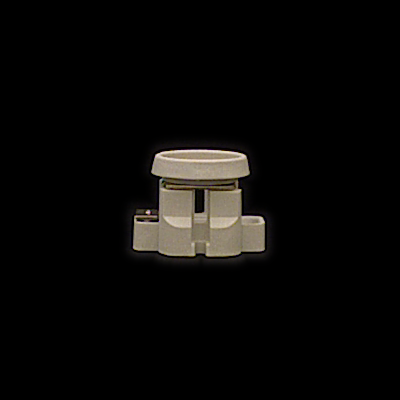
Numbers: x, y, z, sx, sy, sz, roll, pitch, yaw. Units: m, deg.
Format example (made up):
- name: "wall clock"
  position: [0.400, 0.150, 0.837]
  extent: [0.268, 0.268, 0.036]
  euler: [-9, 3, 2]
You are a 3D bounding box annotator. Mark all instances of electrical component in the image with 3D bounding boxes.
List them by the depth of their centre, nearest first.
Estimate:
- name: "electrical component"
  position: [0.000, 0.000, 0.643]
  extent: [0.078, 0.057, 0.057]
  euler: [1, 11, -3]
